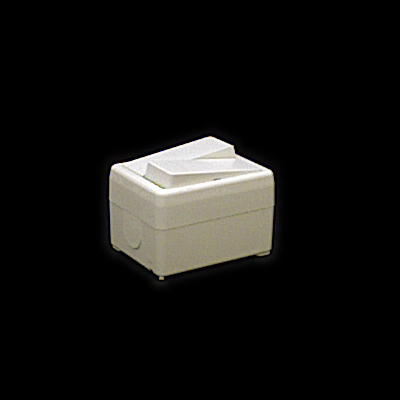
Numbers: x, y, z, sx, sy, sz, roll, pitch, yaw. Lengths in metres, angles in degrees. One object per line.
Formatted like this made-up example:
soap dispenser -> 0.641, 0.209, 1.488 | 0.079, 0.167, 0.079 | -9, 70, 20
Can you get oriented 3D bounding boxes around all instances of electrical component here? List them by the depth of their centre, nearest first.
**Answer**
electrical component -> 0.000, 0.000, 0.640 | 0.096, 0.061, 0.061 | -12, 24, -31
